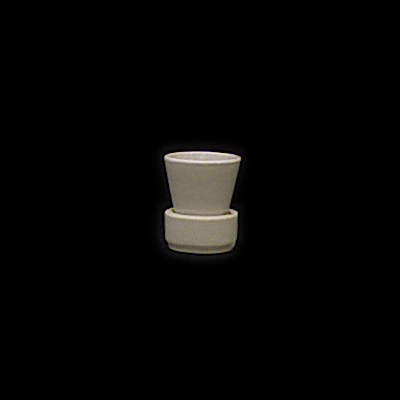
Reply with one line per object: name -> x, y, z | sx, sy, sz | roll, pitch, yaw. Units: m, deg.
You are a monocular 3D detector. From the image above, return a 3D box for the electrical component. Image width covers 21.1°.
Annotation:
electrical component -> 0.000, 0.000, 0.646 | 0.045, 0.055, 0.044 | 2, 11, 0
